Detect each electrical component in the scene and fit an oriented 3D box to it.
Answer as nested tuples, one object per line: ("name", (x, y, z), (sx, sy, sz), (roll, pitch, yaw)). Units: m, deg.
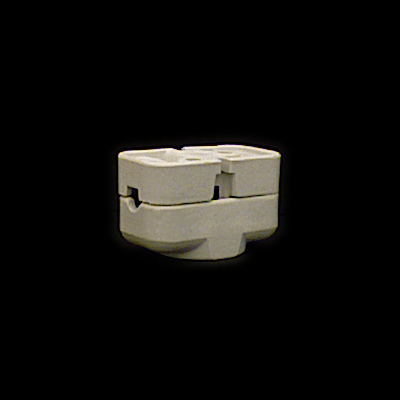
("electrical component", (0.000, 0.000, 0.652), (0.096, 0.060, 0.053), (-7, 14, -34))
